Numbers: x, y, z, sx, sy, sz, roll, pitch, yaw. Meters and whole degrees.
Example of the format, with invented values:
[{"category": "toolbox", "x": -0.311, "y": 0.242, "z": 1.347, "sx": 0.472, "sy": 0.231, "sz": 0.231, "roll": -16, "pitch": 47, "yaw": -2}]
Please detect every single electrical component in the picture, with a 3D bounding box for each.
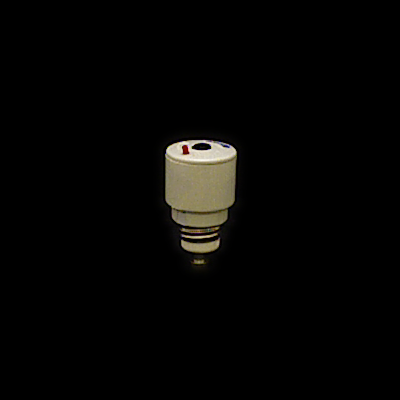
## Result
[{"category": "electrical component", "x": 0.000, "y": 0.000, "z": 0.634, "sx": 0.040, "sy": 0.079, "sz": 0.039, "roll": 1, "pitch": 22, "yaw": 0}]
